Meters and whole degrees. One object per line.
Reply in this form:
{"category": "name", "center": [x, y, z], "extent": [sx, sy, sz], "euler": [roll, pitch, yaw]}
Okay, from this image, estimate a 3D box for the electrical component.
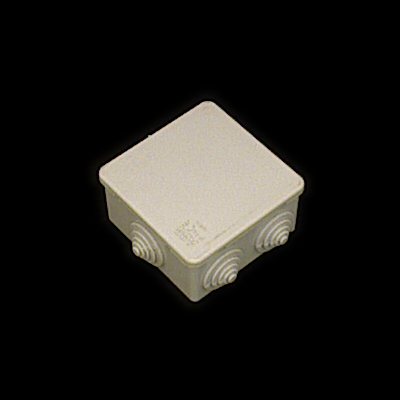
{"category": "electrical component", "center": [0.000, 0.000, 0.639], "extent": [0.100, 0.099, 0.048], "euler": [-34, -29, -23]}
